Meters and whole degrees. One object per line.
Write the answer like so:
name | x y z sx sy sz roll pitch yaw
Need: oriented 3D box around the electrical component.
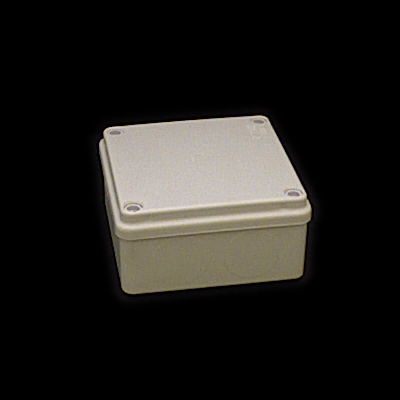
electrical component | 0.000 0.000 0.634 0.109 0.057 0.107 -5 32 -9
